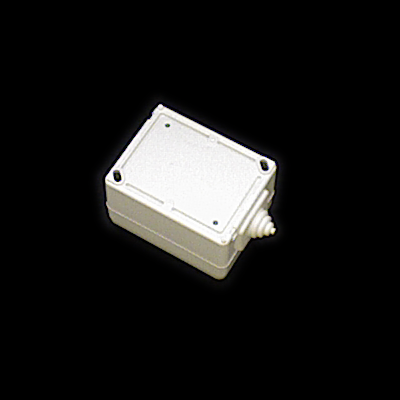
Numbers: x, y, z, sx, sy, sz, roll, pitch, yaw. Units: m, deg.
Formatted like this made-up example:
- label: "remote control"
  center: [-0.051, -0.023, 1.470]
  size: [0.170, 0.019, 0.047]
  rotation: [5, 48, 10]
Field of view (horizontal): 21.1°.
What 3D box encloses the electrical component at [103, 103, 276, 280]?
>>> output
- label: "electrical component"
  center: [0.000, 0.000, 0.625]
  size: [0.096, 0.062, 0.061]
  rotation: [28, -25, 14]
